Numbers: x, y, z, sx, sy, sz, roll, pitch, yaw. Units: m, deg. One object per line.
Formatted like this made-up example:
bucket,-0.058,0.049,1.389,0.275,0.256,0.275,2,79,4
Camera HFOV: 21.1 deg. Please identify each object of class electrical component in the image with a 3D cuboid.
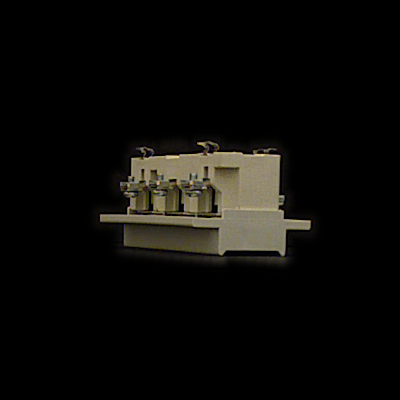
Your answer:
electrical component,0.000,0.000,0.659,0.079,0.063,0.120,2,0,-30
